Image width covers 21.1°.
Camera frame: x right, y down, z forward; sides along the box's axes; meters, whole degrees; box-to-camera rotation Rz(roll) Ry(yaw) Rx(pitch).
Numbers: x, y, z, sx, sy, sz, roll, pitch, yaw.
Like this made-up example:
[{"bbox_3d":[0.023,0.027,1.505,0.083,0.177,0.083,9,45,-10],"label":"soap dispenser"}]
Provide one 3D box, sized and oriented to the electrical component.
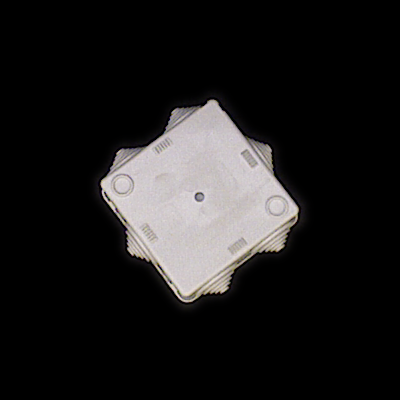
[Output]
[{"bbox_3d":[0.000,0.000,0.633,0.100,0.100,0.048,-37,-5,-4],"label":"electrical component"}]
